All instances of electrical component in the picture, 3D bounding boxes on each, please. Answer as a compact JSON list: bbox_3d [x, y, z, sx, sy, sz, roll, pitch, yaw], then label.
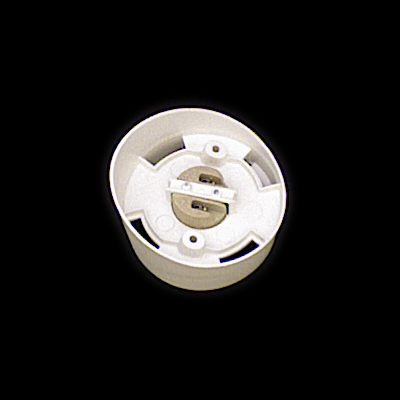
[{"bbox_3d":[0.000,0.000,0.624,0.099,0.099,0.064,0,-27,1],"label":"electrical component"}]
